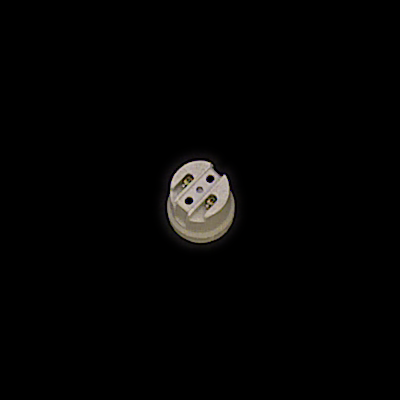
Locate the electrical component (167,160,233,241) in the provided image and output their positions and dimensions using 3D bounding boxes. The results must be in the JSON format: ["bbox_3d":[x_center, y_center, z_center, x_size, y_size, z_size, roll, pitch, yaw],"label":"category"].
[{"bbox_3d":[0.000,0.000,0.633,0.040,0.040,0.046,0,-17,0],"label":"electrical component"}]
